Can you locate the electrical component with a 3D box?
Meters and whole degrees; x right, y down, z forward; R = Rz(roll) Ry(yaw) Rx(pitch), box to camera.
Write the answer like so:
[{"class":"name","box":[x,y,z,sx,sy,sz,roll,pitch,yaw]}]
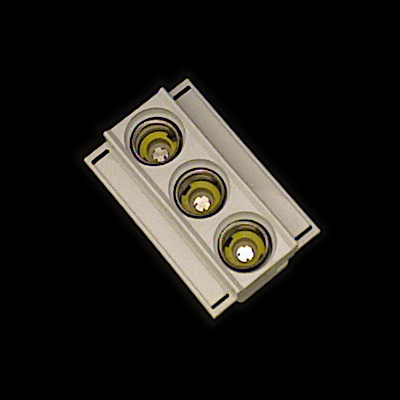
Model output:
[{"class":"electrical component","box":[0.000,0.000,0.636,0.079,0.121,0.063,-38,-13,-8]}]
